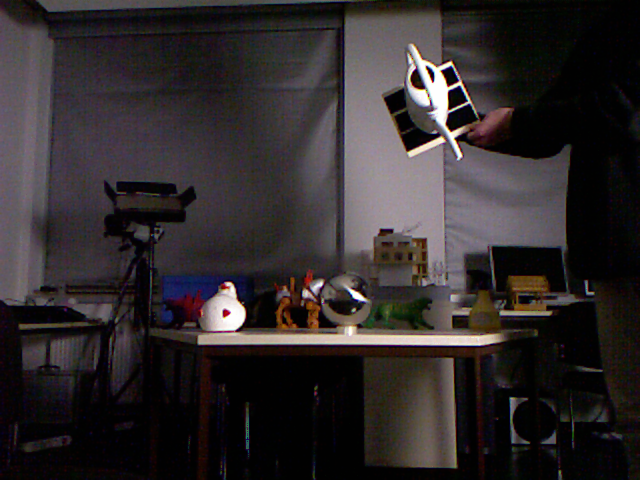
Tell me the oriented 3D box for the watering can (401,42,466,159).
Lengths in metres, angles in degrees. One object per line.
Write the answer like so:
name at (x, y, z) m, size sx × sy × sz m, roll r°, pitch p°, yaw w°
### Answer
watering can at (0.283, -0.337, 1.319) m, size 0.104 × 0.352 × 0.223 m, roll -22°, pitch -13°, yaw 8°
